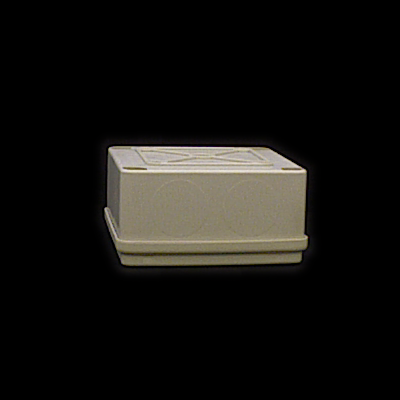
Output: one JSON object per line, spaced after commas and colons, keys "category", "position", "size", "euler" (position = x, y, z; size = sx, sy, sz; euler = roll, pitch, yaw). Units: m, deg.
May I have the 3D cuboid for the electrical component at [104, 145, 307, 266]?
{"category": "electrical component", "position": [0.000, 0.000, 0.644], "size": [0.109, 0.056, 0.107], "euler": [0, 11, -9]}
